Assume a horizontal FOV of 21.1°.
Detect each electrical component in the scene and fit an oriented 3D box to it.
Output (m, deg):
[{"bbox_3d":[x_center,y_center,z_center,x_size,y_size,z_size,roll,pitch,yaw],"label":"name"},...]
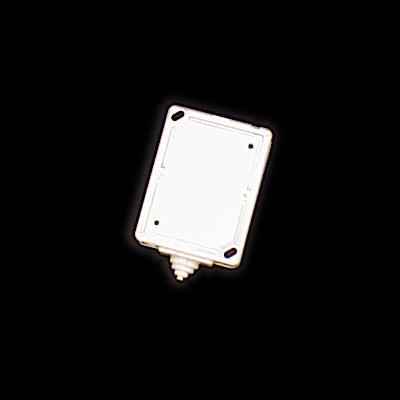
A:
[{"bbox_3d":[0.000,0.000,0.629,0.062,0.096,0.061,15,-6,2],"label":"electrical component"}]
